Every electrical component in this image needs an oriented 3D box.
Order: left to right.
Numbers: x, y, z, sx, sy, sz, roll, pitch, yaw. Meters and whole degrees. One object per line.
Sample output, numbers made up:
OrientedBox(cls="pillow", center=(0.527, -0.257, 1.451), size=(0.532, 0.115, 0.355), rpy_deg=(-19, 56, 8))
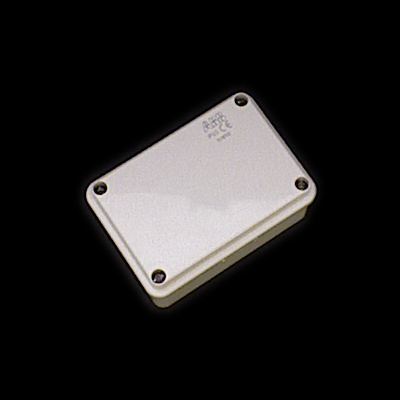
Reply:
OrientedBox(cls="electrical component", center=(0.000, 0.000, 0.627), size=(0.113, 0.078, 0.057), rpy_deg=(-33, -14, -9))
